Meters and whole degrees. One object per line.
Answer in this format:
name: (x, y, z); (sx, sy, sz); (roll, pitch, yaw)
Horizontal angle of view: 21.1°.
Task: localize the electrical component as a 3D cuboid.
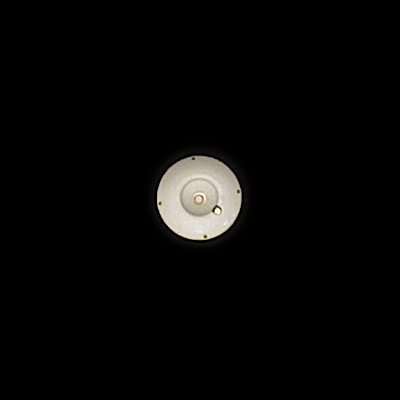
electrical component: (0.000, 0.000, 0.635); (0.048, 0.048, 0.062); (0, -6, 0)
